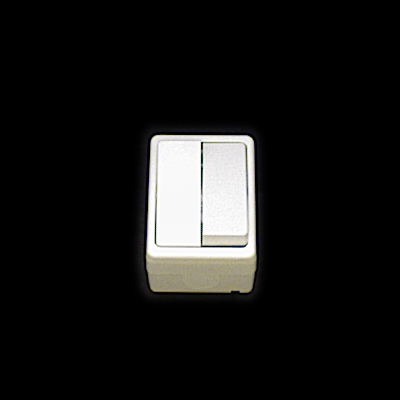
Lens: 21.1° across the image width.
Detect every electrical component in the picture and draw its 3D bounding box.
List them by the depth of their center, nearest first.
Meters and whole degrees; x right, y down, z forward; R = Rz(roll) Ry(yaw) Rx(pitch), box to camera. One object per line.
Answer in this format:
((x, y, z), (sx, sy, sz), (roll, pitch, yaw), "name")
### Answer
((0.000, 0.000, 0.628), (0.062, 0.096, 0.061), (1, -28, 0), "electrical component")
